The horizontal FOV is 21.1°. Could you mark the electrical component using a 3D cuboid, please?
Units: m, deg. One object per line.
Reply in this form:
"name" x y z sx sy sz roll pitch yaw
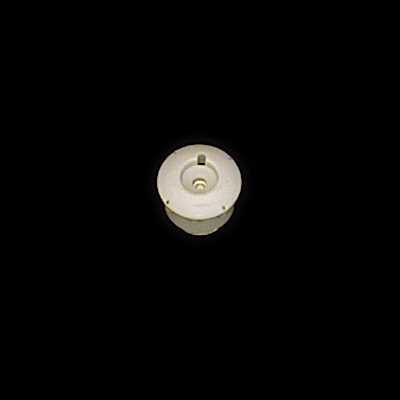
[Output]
"electrical component" 0.000 0.000 0.633 0.048 0.048 0.062 0 -27 0
